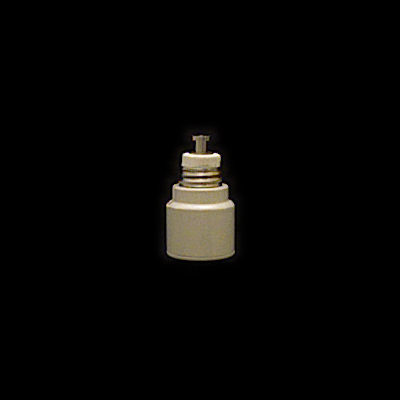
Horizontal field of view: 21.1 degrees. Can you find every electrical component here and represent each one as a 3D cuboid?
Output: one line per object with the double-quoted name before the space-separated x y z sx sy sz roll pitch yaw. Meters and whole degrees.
"electrical component" 0.000 0.000 0.643 0.040 0.079 0.040 0 12 0
